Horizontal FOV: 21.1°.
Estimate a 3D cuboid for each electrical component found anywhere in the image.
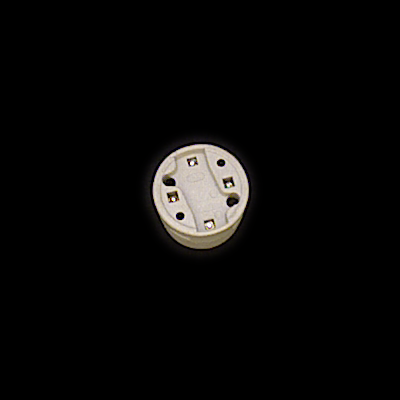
[{"bbox_3d":[0.000,0.000,0.634,0.055,0.056,0.047,0,-17,1],"label":"electrical component"}]
